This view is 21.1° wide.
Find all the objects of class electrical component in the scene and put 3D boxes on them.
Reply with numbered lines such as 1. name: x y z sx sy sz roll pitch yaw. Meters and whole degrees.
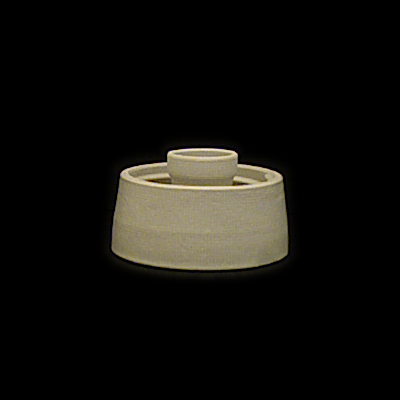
1. electrical component: 0.000 0.000 0.650 0.108 0.061 0.107 1 11 0
